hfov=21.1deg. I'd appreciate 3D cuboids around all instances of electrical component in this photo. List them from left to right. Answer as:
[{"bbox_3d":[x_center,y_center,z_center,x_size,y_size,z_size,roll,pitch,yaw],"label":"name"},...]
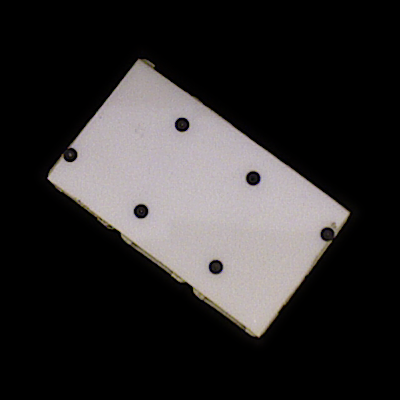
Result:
[{"bbox_3d":[0.000,0.000,0.631,0.150,0.089,0.061,37,-5,4],"label":"electrical component"}]
